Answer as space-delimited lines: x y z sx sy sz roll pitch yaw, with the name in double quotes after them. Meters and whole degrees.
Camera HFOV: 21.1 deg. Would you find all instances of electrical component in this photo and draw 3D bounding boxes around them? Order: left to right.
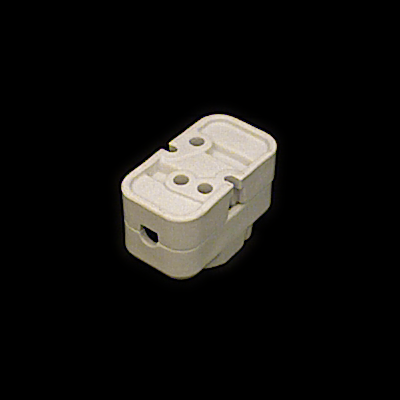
0.000 0.000 0.638 0.053 0.060 0.095 28 49 27 "electrical component"
